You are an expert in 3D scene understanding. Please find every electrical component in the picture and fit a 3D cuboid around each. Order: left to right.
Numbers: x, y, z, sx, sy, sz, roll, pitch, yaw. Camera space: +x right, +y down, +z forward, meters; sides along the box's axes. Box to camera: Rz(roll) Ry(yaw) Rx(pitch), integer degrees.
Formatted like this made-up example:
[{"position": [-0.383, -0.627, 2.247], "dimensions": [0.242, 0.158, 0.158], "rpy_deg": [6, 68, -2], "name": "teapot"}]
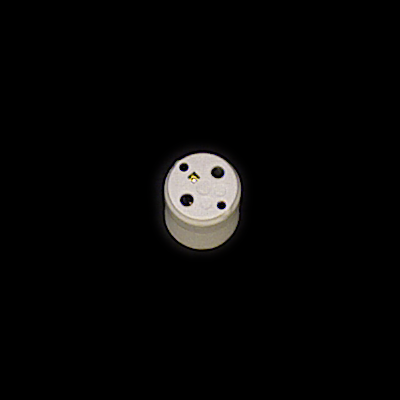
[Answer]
[{"position": [0.000, 0.000, 0.629], "dimensions": [0.045, 0.045, 0.055], "rpy_deg": [0, -16, 0], "name": "electrical component"}]
